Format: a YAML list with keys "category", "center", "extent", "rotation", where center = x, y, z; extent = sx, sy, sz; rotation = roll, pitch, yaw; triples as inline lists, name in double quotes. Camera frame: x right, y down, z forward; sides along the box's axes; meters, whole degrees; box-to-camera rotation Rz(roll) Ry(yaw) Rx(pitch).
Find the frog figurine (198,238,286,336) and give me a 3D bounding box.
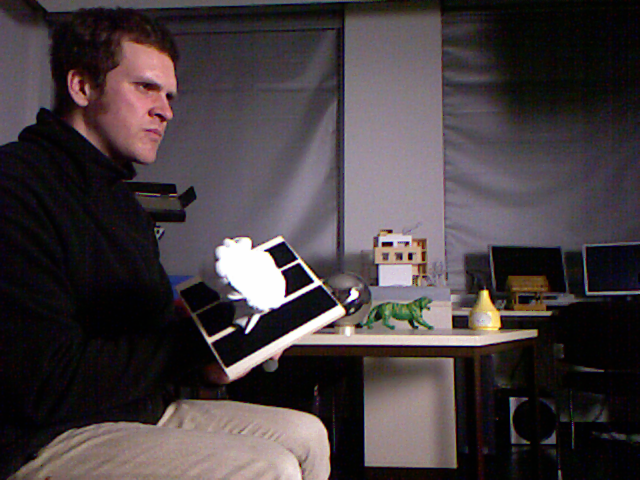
- category: "frog figurine"
  center: [-0.116, 0.049, 0.768]
  extent: [0.123, 0.141, 0.156]
  rotation: [-11, -41, -8]
